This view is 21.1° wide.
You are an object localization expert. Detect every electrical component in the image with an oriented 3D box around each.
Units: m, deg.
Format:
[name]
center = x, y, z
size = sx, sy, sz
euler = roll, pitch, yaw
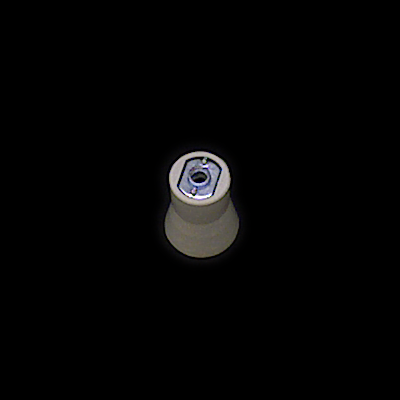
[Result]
[electrical component]
center = 0.000, 0.000, 0.625
size = 0.044, 0.044, 0.065
euler = 0, -27, 1
